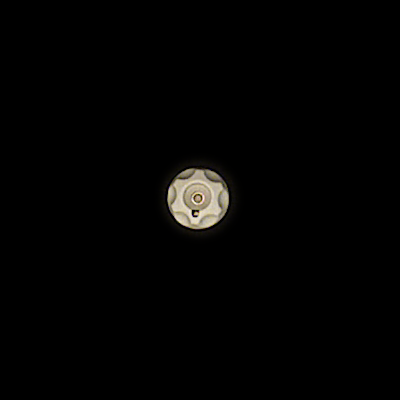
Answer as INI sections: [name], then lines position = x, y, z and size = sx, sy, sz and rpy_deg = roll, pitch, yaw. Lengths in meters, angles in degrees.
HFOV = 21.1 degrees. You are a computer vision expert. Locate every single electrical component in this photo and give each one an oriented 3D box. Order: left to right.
[electrical component]
position = 0.000, 0.000, 0.634
size = 0.035, 0.035, 0.061
rpy_deg = 0, -5, 1
